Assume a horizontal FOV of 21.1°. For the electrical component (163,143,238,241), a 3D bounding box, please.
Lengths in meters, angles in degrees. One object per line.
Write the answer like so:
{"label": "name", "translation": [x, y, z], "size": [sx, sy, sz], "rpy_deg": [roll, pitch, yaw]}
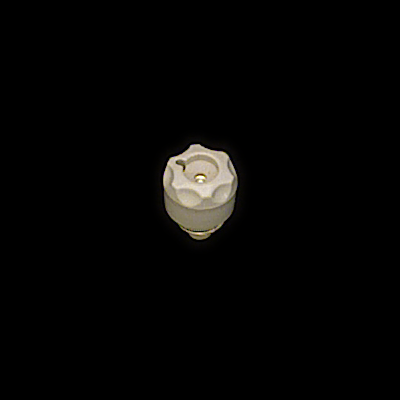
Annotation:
{"label": "electrical component", "translation": [0.000, 0.000, 0.636], "size": [0.043, 0.043, 0.062], "rpy_deg": [0, -37, -1]}
